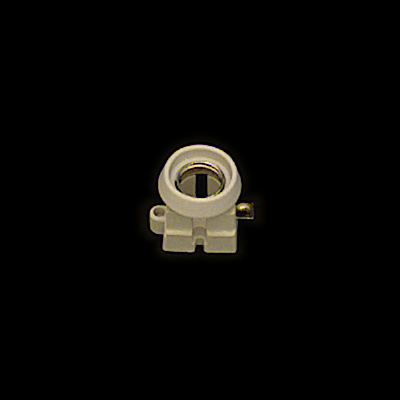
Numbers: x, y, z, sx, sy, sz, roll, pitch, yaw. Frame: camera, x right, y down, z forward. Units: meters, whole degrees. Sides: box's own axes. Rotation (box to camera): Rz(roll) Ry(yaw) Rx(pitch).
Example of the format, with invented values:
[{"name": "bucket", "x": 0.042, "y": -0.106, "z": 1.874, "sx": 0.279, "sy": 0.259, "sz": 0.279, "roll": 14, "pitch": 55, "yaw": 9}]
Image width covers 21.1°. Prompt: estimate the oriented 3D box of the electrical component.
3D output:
[{"name": "electrical component", "x": 0.000, "y": 0.000, "z": 0.639, "sx": 0.066, "sy": 0.048, "sz": 0.056, "roll": 1, "pitch": -35, "yaw": 0}]
